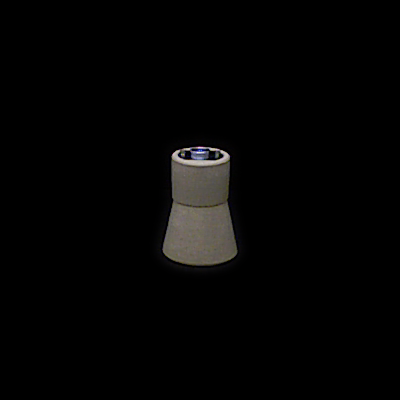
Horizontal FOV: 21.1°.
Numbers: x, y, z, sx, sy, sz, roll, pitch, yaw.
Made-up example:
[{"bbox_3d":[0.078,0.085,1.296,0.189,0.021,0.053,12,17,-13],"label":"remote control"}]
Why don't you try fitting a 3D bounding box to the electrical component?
[{"bbox_3d":[0.000,0.000,0.640,0.044,0.066,0.044,1,20,0],"label":"electrical component"}]
